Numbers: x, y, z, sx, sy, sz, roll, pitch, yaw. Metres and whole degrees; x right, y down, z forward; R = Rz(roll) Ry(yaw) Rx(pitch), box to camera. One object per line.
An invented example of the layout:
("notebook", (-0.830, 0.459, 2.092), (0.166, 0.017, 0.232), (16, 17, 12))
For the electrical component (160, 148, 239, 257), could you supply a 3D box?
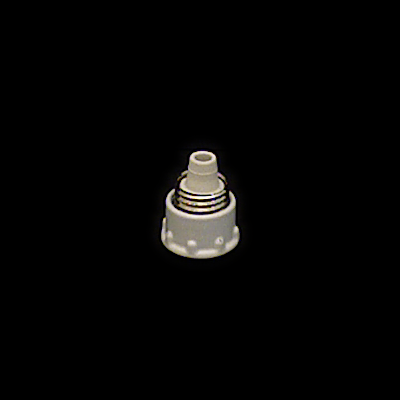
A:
("electrical component", (0.000, 0.000, 0.642), (0.048, 0.063, 0.047), (2, 33, -1))
